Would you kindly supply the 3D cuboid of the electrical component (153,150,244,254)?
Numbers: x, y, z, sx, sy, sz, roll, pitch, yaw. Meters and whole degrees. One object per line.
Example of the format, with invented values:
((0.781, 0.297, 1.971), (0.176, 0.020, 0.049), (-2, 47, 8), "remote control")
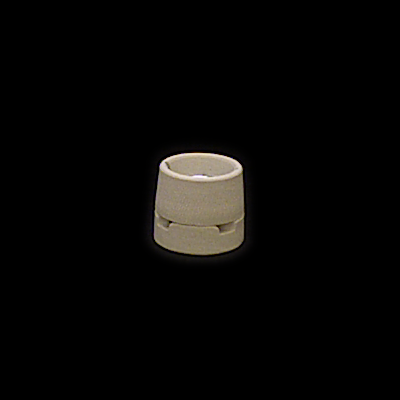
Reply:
((0.000, 0.000, 0.641), (0.055, 0.047, 0.055), (2, 22, -1), "electrical component")
